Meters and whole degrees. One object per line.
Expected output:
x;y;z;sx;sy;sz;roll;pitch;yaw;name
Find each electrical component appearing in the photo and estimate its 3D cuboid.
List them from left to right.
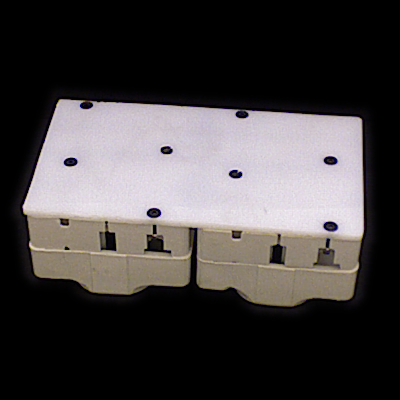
0.000;0.000;0.630;0.186;0.061;0.104;4;42;3;electrical component
